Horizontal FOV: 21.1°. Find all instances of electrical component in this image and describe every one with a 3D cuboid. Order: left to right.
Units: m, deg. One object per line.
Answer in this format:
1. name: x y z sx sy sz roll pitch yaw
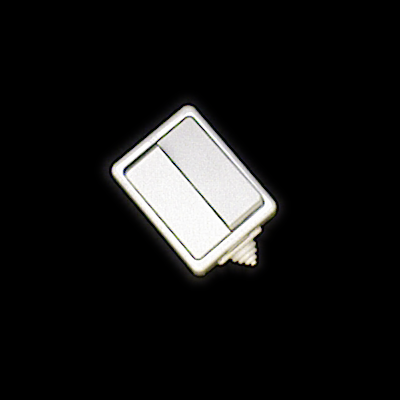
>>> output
1. electrical component: 0.000 0.000 0.626 0.062 0.096 0.061 -40 -6 -4
